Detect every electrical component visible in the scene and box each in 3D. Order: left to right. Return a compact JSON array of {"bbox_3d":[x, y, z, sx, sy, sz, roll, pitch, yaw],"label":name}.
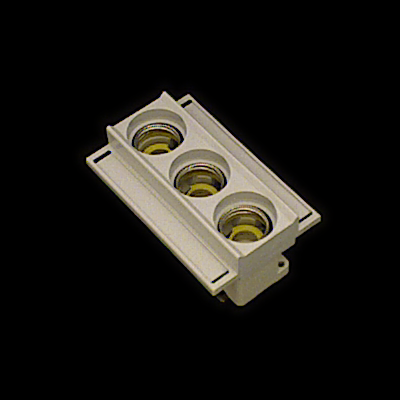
[{"bbox_3d":[0.000,0.000,0.638,0.079,0.120,0.063,-33,-30,-21],"label":"electrical component"}]
